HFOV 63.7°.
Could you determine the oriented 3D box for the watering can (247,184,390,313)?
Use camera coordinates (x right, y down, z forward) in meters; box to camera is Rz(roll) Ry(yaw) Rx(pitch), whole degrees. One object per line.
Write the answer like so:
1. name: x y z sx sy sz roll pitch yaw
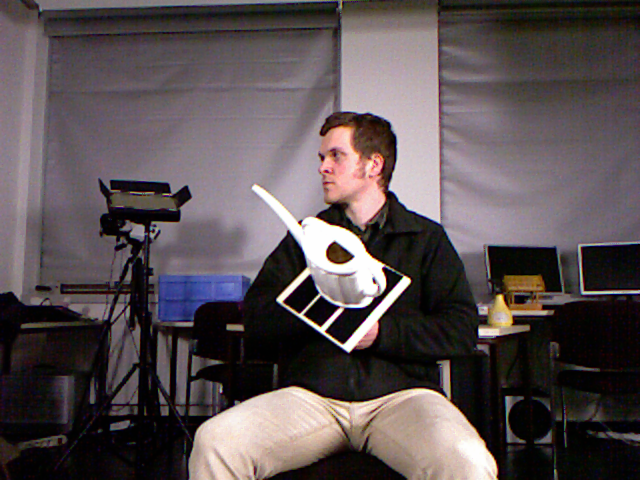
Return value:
1. watering can: -0.001 0.021 1.029 0.352 0.106 0.220 33 -26 30
